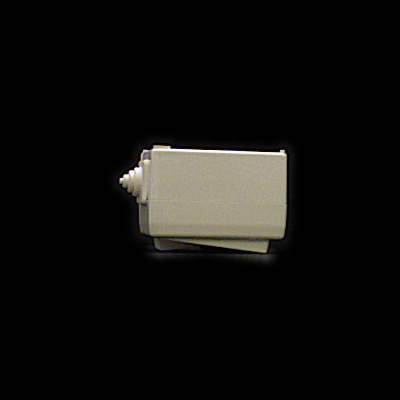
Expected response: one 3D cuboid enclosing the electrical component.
[{"bbox_3d":[0.000,0.000,0.646,0.096,0.061,0.061,2,1,-10],"label":"electrical component"}]
